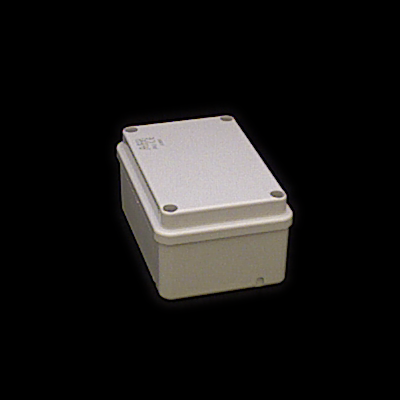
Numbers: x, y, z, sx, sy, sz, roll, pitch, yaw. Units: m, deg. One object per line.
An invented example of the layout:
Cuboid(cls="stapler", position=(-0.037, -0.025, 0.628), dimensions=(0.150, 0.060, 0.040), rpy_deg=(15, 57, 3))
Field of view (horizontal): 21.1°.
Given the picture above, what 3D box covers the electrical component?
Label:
Cuboid(cls="electrical component", position=(0.000, 0.000, 0.634), dimensions=(0.078, 0.058, 0.111), rpy_deg=(-8, 33, -14))
